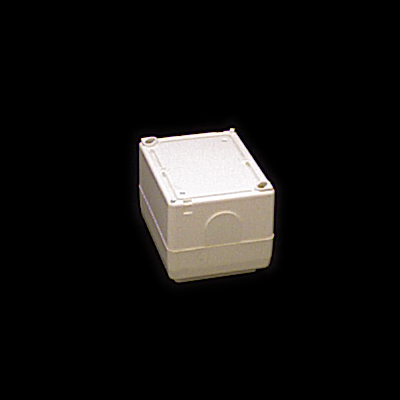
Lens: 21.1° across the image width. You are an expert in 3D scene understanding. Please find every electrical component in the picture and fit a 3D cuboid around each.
[{"bbox_3d":[0.000,0.000,0.637,0.062,0.061,0.095,-7,32,-13],"label":"electrical component"}]
